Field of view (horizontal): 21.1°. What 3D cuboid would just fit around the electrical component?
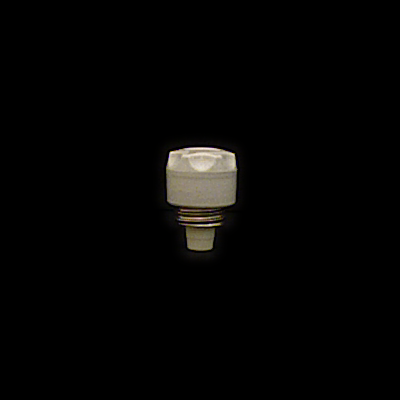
[{"bbox_3d":[0.000,0.000,0.652,0.043,0.062,0.043,1,11,0],"label":"electrical component"}]
